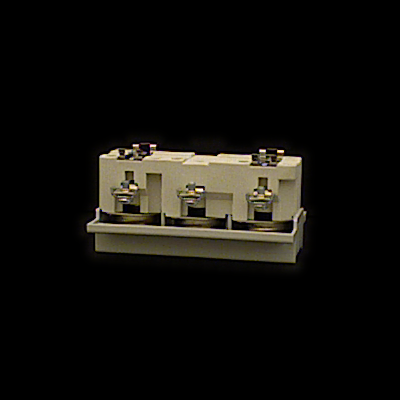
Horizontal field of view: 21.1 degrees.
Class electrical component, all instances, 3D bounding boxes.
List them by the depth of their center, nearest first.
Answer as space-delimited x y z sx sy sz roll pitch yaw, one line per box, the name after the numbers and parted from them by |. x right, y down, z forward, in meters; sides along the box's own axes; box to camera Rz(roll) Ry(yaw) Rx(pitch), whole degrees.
0.001 0.000 0.654 0.121 0.063 0.078 3 11 10 | electrical component
